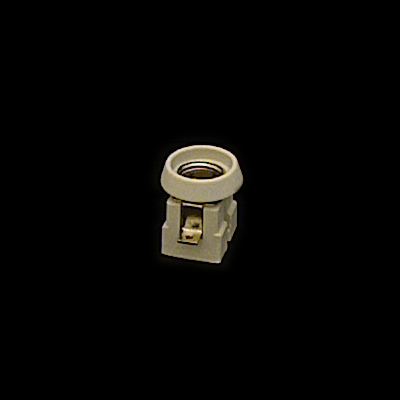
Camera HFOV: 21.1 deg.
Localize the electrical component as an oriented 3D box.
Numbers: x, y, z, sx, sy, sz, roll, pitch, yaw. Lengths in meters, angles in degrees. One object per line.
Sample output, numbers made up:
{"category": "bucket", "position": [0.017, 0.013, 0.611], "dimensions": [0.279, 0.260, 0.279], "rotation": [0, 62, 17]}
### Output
{"category": "electrical component", "position": [0.000, 0.000, 0.642], "dimensions": [0.048, 0.056, 0.066], "rotation": [6, 33, 12]}
